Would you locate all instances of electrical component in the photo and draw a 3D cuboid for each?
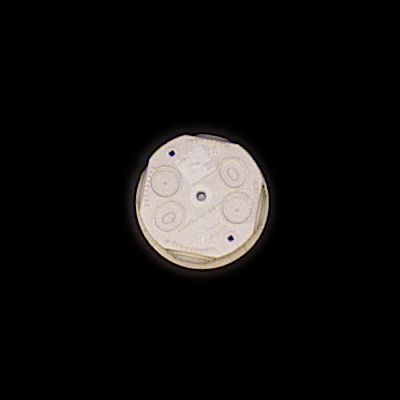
[{"bbox_3d":[0.000,0.000,0.634,0.080,0.080,0.050,0,-7,1],"label":"electrical component"}]
